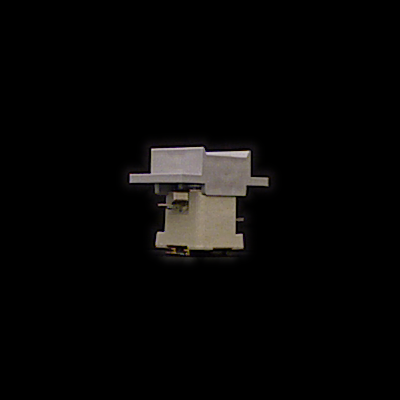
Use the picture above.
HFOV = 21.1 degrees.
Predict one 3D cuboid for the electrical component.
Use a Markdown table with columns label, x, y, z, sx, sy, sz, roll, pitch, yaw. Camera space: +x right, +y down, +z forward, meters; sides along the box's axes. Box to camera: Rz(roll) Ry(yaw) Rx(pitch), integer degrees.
| label | x | y | z | sx | sy | sz | roll | pitch | yaw |
| --- | --- | --- | --- | --- | --- | --- | --- | --- | --- |
| electrical component | 0.000 | 0.000 | 0.652 | 0.042 | 0.064 | 0.081 | 1 | 0 | 42 |
